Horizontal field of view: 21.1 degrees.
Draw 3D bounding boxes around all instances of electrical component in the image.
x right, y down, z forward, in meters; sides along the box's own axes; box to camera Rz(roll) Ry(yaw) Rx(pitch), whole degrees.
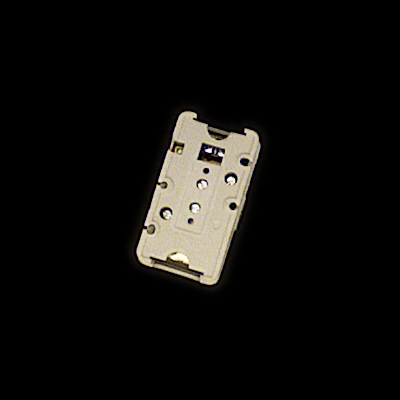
[{"bbox_3d":[0.000,0.000,0.637,0.050,0.090,0.055,17,-6,3],"label":"electrical component"}]
